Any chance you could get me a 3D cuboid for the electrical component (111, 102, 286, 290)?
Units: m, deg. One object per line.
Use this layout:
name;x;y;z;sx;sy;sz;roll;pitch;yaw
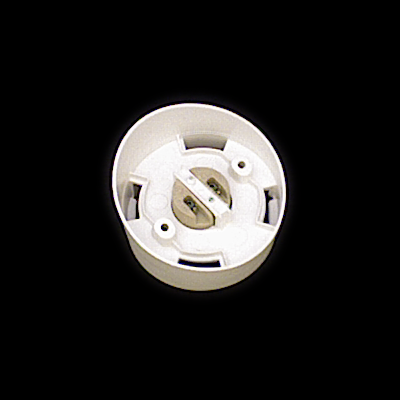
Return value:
electrical component;0.000;0.000;0.624;0.099;0.099;0.064;0;-28;1
